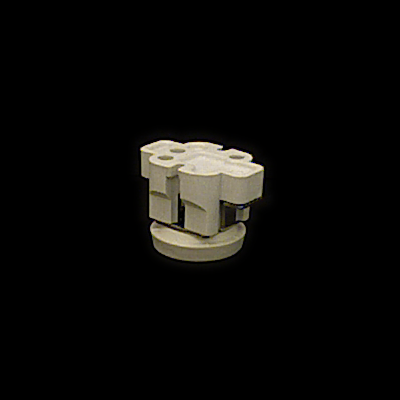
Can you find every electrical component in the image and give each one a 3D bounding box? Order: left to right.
[{"bbox_3d":[0.000,0.000,0.647,0.077,0.057,0.058,18,26,32],"label":"electrical component"}]
